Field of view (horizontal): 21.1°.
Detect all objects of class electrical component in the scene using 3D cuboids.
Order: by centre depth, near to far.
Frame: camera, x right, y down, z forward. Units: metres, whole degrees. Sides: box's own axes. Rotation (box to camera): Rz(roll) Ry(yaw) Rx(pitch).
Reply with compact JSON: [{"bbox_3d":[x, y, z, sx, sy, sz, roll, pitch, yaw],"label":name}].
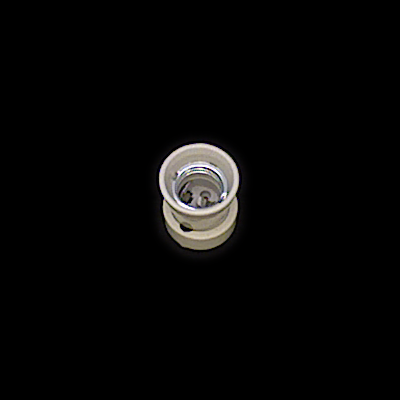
[{"bbox_3d":[0.000,0.000,0.628,0.045,0.045,0.055,0,-28,0],"label":"electrical component"}]
